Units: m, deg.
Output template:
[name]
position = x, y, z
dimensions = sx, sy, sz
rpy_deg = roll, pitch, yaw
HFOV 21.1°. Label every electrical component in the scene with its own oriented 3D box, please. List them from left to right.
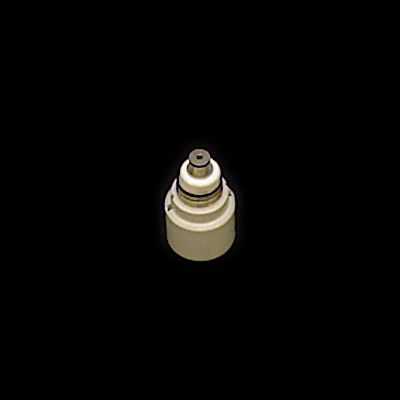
[electrical component]
position = 0.000, 0.000, 0.621
dimensions = 0.040, 0.040, 0.079
rpy_deg = 0, -37, 1
